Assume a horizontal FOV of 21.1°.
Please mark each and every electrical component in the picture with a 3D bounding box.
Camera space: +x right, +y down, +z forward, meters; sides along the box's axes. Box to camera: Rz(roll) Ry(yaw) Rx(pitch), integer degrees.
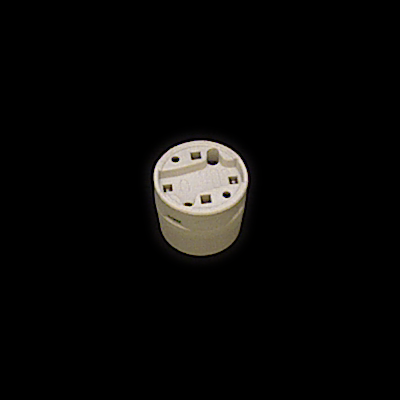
[{"bbox_3d":[0.000,0.000,0.635,0.055,0.055,0.047,0,-38,0],"label":"electrical component"}]
